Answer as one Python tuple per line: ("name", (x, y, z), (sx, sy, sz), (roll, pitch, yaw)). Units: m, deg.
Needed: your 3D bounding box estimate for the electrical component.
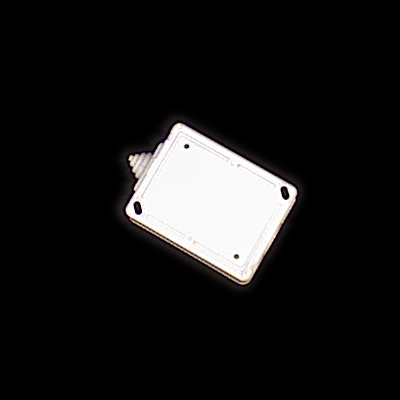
("electrical component", (0.000, 0.000, 0.630), (0.096, 0.062, 0.061), (30, -6, 5))
